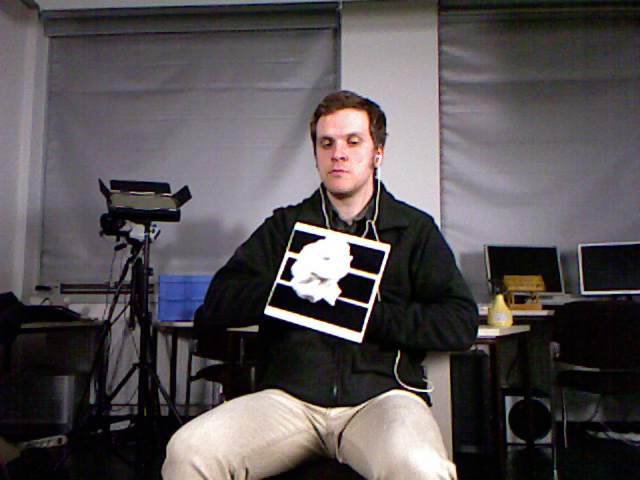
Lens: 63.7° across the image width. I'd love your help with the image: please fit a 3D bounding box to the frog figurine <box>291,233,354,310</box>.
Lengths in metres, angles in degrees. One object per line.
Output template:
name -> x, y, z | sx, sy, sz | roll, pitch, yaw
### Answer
frog figurine -> -0.001, 0.047, 0.956 | 0.124, 0.139, 0.157 | 39, -9, 23
